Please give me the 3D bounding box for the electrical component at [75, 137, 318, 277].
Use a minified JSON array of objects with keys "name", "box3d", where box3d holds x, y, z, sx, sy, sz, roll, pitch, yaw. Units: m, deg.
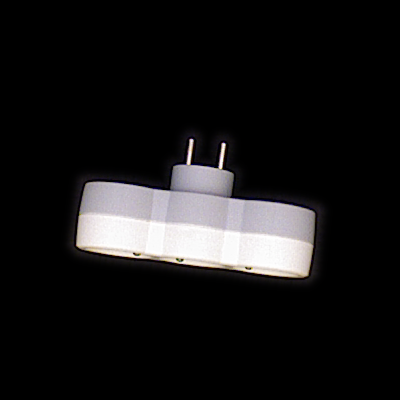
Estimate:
[{"name":"electrical component","box3d":[0.000,0.000,0.632,0.138,0.074,0.052,7,-9,2]}]
